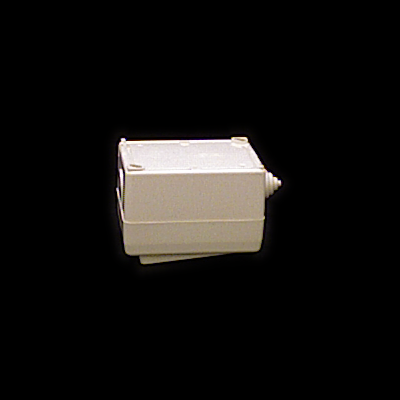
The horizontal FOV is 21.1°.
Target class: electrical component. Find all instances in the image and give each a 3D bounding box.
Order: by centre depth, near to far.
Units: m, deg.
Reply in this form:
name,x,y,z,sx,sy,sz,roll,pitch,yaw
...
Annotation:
name,x,y,z,sx,sy,sz,roll,pitch,yaw
electrical component,0.000,0.000,0.637,0.096,0.061,0.061,-1,21,-8
